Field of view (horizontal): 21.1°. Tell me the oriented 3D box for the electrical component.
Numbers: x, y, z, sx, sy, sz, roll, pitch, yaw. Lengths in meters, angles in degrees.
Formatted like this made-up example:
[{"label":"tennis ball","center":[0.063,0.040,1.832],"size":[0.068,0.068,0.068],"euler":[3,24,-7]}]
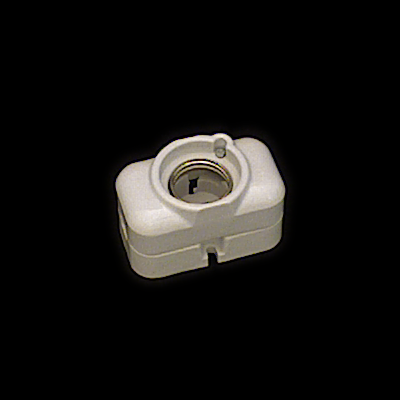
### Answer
[{"label":"electrical component","center":[0.000,0.000,0.636],"size":[0.095,0.053,0.059],"euler":[-14,-35,-11]}]
